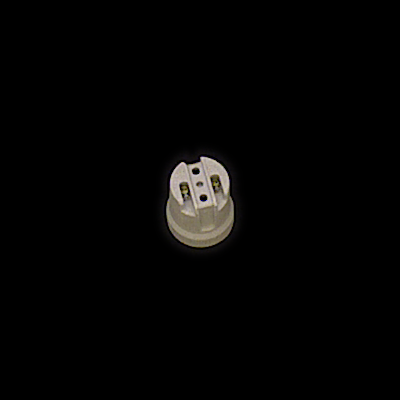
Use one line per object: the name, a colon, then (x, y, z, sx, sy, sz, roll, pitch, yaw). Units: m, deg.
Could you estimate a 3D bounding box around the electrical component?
electrical component: (0.000, 0.000, 0.632, 0.040, 0.040, 0.046, 0, -27, 0)
